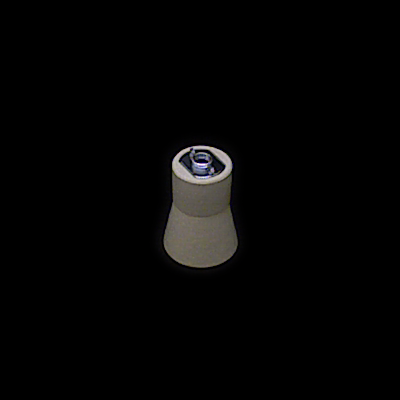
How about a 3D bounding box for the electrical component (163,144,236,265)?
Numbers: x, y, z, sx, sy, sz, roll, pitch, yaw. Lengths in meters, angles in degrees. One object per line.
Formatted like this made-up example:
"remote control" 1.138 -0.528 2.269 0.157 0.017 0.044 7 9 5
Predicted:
"electrical component" 0.000 0.000 0.629 0.044 0.066 0.044 1 41 -1
